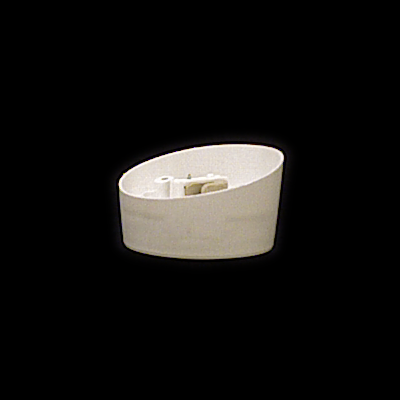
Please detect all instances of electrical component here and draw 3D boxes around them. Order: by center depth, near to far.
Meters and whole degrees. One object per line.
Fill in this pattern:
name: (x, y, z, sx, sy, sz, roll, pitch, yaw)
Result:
electrical component: (0.000, 0.000, 0.645, 0.099, 0.064, 0.098, 1, 9, 0)
